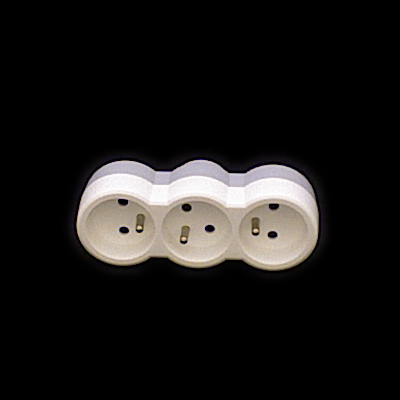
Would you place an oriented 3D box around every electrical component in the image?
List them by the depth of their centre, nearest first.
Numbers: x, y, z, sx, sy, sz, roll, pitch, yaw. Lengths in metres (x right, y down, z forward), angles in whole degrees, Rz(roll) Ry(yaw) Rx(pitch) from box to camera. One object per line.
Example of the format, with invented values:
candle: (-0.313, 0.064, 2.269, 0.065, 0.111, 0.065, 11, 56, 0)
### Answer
electrical component: (0.000, 0.000, 0.636, 0.138, 0.053, 0.073, 1, 30, 2)
